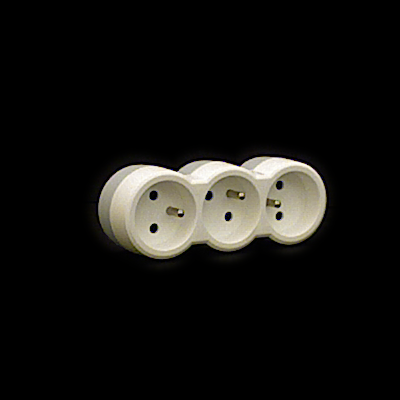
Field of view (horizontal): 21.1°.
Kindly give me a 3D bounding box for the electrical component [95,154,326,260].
[{"bbox_3d":[0.000,0.000,0.655,0.139,0.052,0.072,-5,12,-30],"label":"electrical component"}]
